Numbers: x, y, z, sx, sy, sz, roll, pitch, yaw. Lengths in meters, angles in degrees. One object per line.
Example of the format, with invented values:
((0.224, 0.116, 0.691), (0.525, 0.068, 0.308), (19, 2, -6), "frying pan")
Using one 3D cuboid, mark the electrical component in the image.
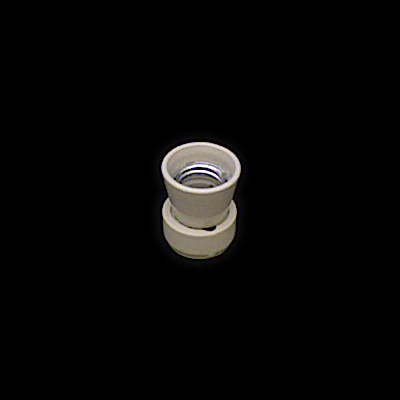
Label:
((0.000, 0.000, 0.633), (0.045, 0.056, 0.044), (1, 42, -1), "electrical component")
